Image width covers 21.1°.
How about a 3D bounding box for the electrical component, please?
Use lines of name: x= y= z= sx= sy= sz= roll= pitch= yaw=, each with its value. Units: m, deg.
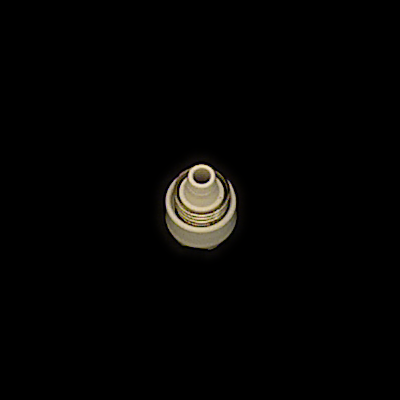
electrical component: x=0.000 y=0.000 z=0.634 sx=0.043 sy=0.043 sz=0.062 roll=0 pitch=-27 yaw=-1
